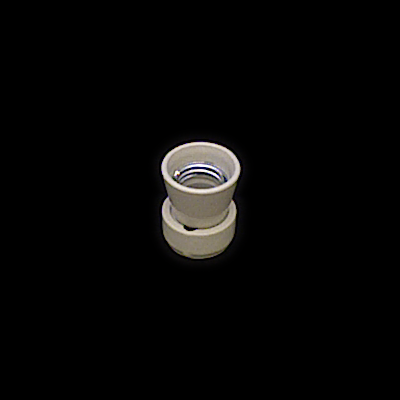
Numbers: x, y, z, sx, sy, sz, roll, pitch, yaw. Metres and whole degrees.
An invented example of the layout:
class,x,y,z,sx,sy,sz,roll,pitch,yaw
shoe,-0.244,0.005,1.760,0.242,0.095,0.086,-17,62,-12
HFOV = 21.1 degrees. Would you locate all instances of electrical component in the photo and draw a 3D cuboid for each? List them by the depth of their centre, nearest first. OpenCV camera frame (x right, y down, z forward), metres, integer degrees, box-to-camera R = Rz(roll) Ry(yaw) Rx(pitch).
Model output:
class,x,y,z,sx,sy,sz,roll,pitch,yaw
electrical component,0.000,0.000,0.633,0.045,0.056,0.044,1,42,-1
